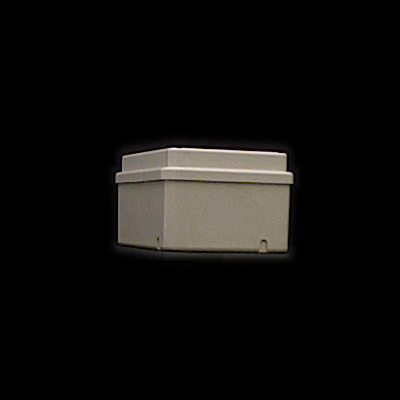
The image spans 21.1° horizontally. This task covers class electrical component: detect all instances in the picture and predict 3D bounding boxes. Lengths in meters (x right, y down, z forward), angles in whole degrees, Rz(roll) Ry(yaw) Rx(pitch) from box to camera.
[{"bbox_3d":[0.000,0.000,0.648,0.078,0.057,0.113,1,0,-19],"label":"electrical component"}]
